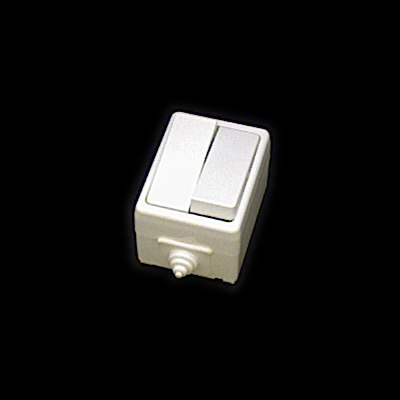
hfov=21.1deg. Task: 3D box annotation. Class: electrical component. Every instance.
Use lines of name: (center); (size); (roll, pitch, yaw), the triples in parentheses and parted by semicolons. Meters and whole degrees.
electrical component: (0.000, 0.000, 0.626); (0.061, 0.096, 0.061); (13, -37, 10)
